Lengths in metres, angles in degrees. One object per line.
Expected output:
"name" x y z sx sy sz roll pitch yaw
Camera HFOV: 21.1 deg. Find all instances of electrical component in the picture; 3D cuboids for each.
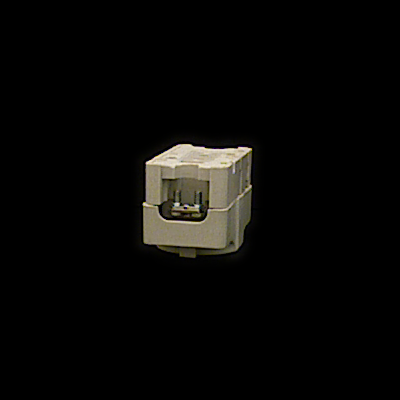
"electrical component" 0.000 0.000 0.651 0.050 0.056 0.089 4 12 11
